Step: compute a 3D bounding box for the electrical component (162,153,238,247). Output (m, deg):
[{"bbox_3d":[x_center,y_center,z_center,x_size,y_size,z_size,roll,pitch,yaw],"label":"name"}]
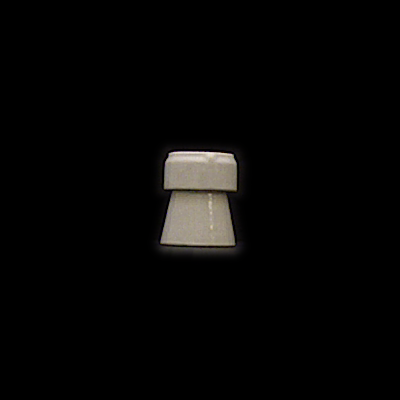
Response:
[{"bbox_3d":[0.000,0.000,0.650,0.045,0.055,0.044,2,1,0],"label":"electrical component"}]
